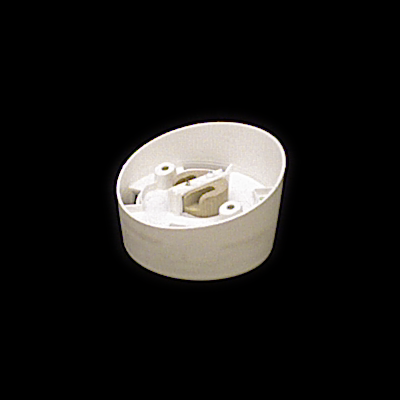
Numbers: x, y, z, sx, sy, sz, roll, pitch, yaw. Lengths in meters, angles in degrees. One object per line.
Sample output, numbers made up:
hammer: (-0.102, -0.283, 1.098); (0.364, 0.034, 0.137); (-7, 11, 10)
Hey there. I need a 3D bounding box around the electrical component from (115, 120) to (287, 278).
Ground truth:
electrical component: (0.000, 0.000, 0.634); (0.099, 0.065, 0.097); (1, 30, 0)
